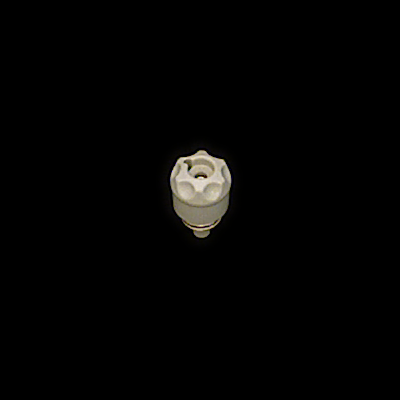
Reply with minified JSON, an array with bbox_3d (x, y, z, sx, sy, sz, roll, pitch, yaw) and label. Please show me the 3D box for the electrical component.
[{"bbox_3d":[0.000,0.000,0.636,0.035,0.035,0.062,0,-37,0],"label":"electrical component"}]
